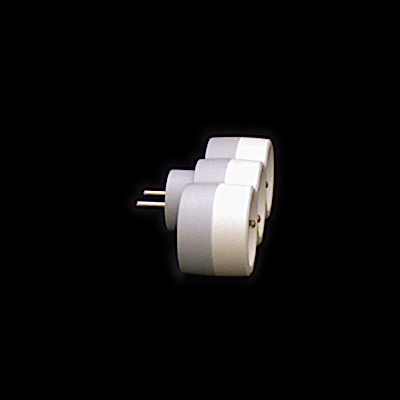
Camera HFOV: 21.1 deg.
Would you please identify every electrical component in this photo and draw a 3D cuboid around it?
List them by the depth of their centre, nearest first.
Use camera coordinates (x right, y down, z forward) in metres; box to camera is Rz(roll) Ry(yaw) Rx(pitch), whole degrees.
[{"bbox_3d":[0.000,0.000,0.638,0.073,0.053,0.137,3,22,9],"label":"electrical component"}]
